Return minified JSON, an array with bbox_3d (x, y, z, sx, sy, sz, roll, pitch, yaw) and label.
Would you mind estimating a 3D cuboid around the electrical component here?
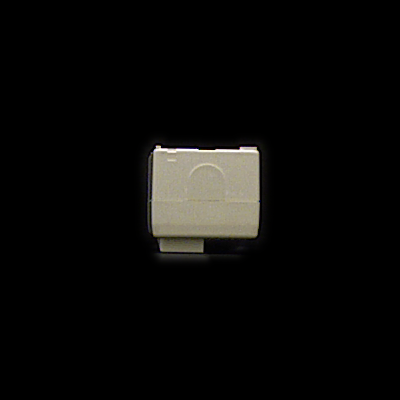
[{"bbox_3d":[0.000,0.000,0.657,0.062,0.061,0.096,1,0,-5],"label":"electrical component"}]
